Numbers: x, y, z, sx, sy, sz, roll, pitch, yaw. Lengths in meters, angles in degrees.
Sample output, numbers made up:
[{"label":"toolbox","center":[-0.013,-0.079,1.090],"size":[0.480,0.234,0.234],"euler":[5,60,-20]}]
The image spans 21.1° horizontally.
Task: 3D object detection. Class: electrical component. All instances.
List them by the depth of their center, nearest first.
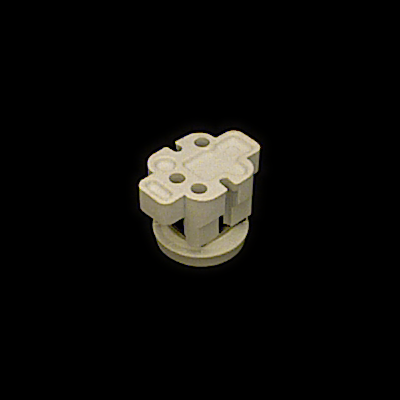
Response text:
[{"label":"electrical component","center":[0.000,0.000,0.641],"size":[0.079,0.057,0.057],"euler":[-32,51,-32]}]
